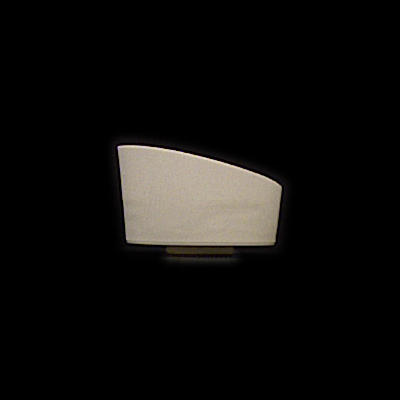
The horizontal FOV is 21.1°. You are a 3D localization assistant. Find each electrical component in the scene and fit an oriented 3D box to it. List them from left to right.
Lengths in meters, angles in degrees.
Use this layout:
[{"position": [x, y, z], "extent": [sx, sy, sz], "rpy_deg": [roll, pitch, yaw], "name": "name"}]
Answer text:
[{"position": [0.000, 0.000, 0.648], "extent": [0.099, 0.064, 0.099], "rpy_deg": [1, 1, 0], "name": "electrical component"}]
